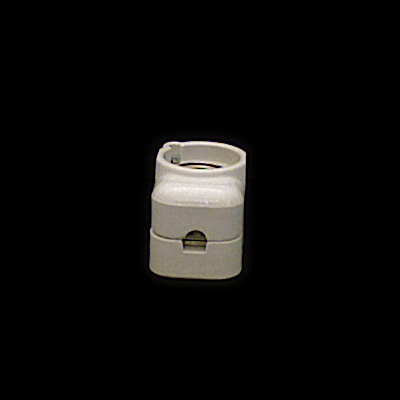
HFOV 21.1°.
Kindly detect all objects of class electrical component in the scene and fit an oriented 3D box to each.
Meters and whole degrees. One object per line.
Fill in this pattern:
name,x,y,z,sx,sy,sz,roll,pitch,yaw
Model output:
electrical component,0.000,0.000,0.646,0.054,0.060,0.094,2,21,2
